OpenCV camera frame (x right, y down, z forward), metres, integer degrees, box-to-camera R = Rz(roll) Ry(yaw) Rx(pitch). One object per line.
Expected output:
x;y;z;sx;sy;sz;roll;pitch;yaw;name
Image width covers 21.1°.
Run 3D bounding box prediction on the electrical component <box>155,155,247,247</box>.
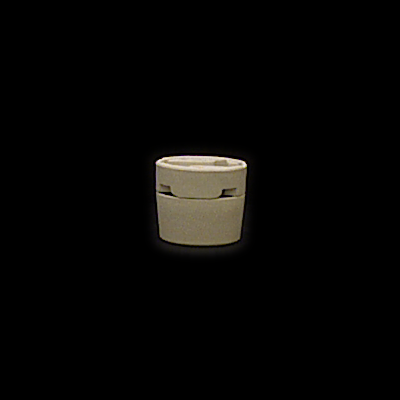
0.000;0.000;0.647;0.055;0.047;0.055;1;11;0;electrical component
